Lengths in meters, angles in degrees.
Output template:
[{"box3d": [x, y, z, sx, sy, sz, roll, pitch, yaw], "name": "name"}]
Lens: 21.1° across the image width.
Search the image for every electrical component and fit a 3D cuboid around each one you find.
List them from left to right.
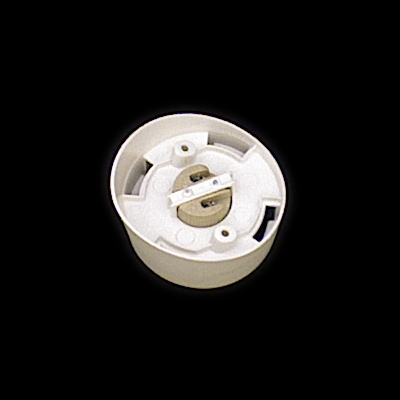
[{"box3d": [0.000, 0.000, 0.624, 0.099, 0.099, 0.064, 0, -27, 0], "name": "electrical component"}]
